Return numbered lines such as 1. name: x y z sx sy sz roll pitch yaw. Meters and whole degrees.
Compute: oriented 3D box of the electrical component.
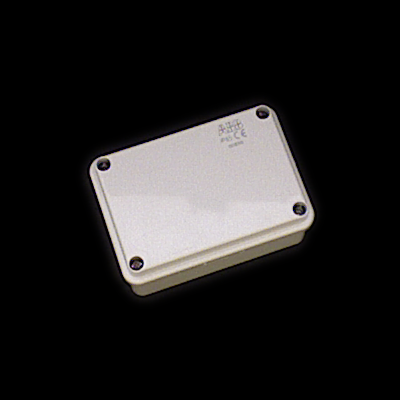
1. electrical component: 0.000 0.000 0.627 0.113 0.078 0.057 -18 -16 -5
